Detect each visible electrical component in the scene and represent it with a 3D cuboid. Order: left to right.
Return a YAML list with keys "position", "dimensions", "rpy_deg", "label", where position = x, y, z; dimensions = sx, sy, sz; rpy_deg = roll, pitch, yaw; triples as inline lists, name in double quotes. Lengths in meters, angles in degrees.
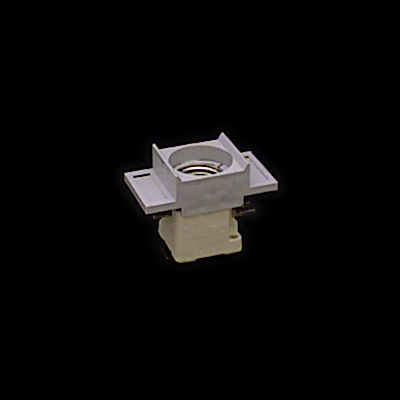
- position: [0.000, 0.000, 0.634]
  dimensions: [0.081, 0.064, 0.041]
  rpy_deg: [-10, 32, -17]
  label: "electrical component"
